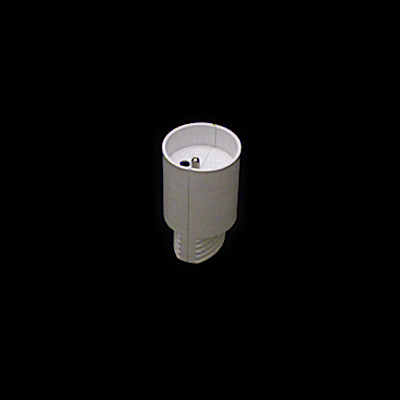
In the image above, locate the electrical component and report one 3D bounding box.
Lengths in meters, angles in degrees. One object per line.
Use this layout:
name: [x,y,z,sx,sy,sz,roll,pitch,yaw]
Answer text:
electrical component: [0.000,0.000,0.621,0.043,0.082,0.042,0,42,0]
